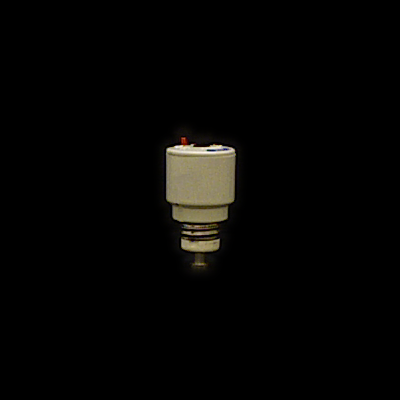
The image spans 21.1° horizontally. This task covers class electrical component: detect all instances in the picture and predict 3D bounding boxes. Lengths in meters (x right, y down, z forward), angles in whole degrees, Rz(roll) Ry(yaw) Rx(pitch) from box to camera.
[{"bbox_3d":[0.000,0.000,0.644,0.040,0.079,0.040,1,11,0],"label":"electrical component"}]
